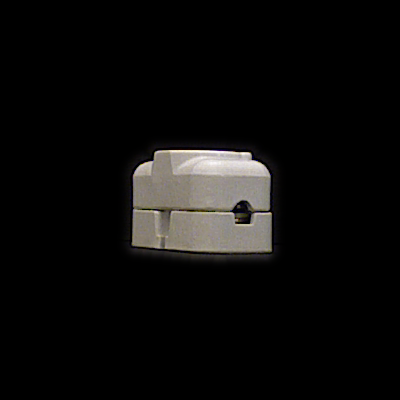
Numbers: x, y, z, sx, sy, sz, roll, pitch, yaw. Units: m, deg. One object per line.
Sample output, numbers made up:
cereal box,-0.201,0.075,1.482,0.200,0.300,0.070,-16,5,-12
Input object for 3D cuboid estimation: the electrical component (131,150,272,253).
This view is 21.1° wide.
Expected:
electrical component,0.000,0.000,0.657,0.054,0.059,0.094,0,2,-34
